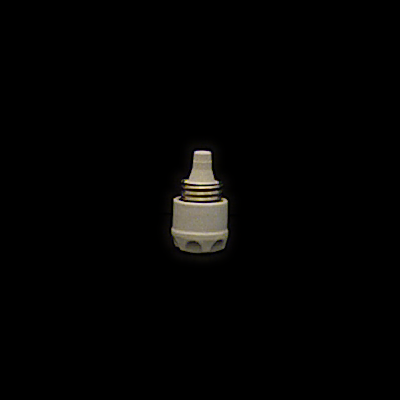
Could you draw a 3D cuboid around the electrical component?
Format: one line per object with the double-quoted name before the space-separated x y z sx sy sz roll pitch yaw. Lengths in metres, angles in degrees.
"electrical component" 0.000 0.000 0.657 0.035 0.062 0.035 3 12 0
